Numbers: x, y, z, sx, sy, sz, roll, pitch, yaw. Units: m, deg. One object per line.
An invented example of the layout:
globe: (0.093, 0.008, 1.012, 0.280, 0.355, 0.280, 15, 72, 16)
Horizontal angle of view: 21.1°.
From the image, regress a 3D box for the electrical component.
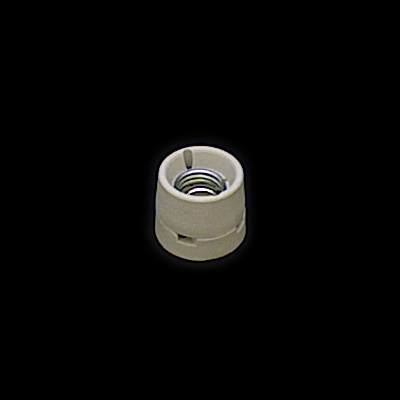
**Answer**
electrical component: (0.000, 0.000, 0.635, 0.055, 0.047, 0.055, 0, 43, 0)
